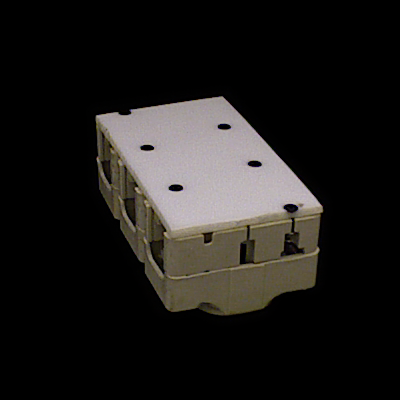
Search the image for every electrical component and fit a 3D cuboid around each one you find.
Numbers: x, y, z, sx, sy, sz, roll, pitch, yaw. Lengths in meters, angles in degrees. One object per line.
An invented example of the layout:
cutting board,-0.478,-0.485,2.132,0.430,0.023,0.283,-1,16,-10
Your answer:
electrical component,0.000,0.000,0.642,0.089,0.063,0.146,-10,32,-17
